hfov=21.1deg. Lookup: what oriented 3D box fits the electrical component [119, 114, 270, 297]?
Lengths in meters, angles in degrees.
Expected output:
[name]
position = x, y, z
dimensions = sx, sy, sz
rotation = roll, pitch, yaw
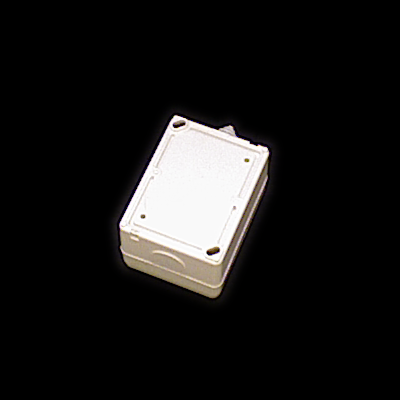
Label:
[electrical component]
position = 0.000, 0.000, 0.628
dimensions = 0.062, 0.096, 0.061
rotation = 20, -26, 10
